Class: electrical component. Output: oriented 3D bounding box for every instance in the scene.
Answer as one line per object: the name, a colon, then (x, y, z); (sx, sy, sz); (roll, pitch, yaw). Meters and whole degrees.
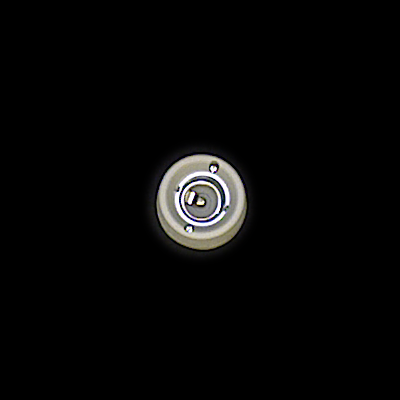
electrical component: (0.000, 0.000, 0.634); (0.055, 0.055, 0.047); (0, -7, 0)
